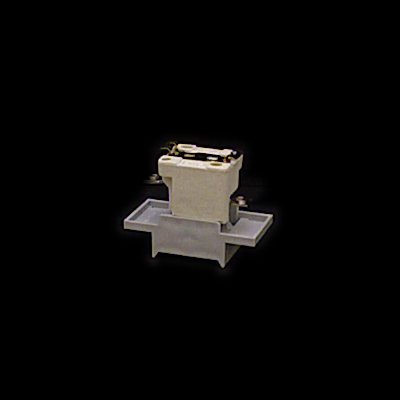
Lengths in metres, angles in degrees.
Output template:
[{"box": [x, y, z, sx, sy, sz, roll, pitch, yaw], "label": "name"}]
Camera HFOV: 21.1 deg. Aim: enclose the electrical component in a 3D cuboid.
[{"box": [0.000, 0.000, 0.639, 0.081, 0.064, 0.042, 7, 22, 16], "label": "electrical component"}]
